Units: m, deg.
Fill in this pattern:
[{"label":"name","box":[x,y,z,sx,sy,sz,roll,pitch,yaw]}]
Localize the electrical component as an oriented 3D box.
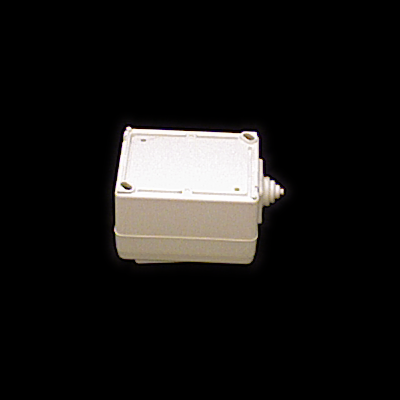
[{"label":"electrical component","box":[0.000,0.000,0.629,0.096,0.061,0.061,2,42,1]}]
